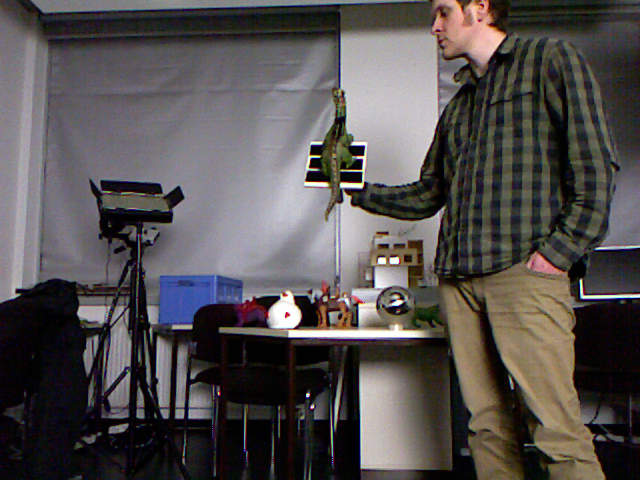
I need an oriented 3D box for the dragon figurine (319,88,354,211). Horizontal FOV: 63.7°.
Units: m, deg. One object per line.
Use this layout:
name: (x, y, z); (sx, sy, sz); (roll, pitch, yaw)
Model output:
dragon figurine: (0.053, -0.325, 1.698); (0.122, 0.420, 0.238); (0, -28, 2)
